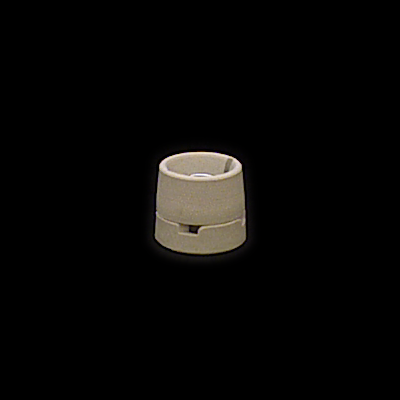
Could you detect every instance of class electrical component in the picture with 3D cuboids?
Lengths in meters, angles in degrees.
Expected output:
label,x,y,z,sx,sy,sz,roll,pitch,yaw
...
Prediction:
label,x,y,z,sx,sy,sz,roll,pitch,yaw
electrical component,0.000,0.000,0.640,0.055,0.047,0.055,0,21,0
